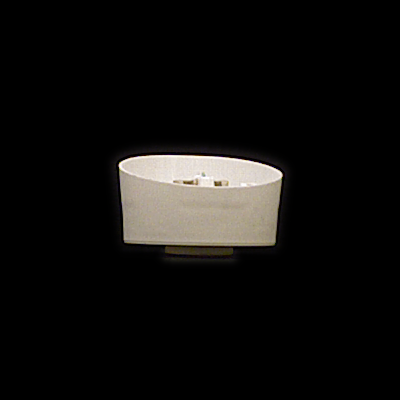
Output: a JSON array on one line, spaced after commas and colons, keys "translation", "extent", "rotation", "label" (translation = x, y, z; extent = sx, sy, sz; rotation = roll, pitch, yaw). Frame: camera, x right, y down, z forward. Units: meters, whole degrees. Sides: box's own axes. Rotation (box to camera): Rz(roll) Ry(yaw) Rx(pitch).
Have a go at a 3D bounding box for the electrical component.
[{"translation": [0.000, 0.000, 0.650], "extent": [0.099, 0.064, 0.099], "rotation": [1, -1, 0], "label": "electrical component"}]
